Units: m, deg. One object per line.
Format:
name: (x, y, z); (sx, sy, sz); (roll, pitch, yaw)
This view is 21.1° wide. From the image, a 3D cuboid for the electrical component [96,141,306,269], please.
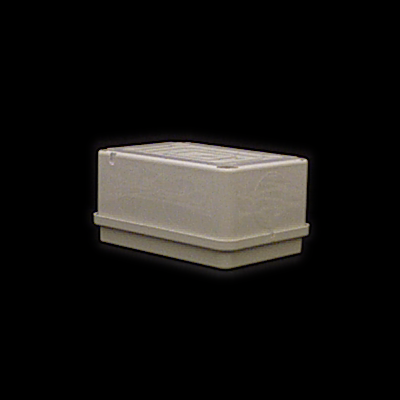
electrical component: (0.000, 0.000, 0.644); (0.112, 0.057, 0.078); (11, 14, 42)
